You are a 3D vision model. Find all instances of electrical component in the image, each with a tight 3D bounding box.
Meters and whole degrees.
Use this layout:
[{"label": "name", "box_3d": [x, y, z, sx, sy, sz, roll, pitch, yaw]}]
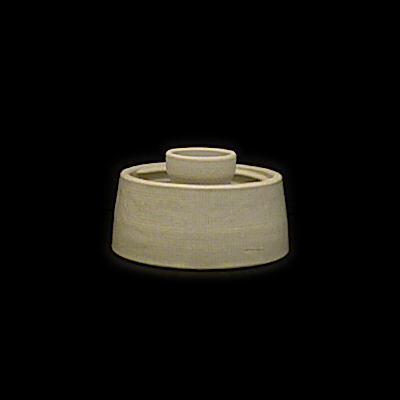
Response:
[{"label": "electrical component", "box_3d": [0.000, 0.000, 0.652, 0.108, 0.061, 0.107, 1, 11, 0]}]
